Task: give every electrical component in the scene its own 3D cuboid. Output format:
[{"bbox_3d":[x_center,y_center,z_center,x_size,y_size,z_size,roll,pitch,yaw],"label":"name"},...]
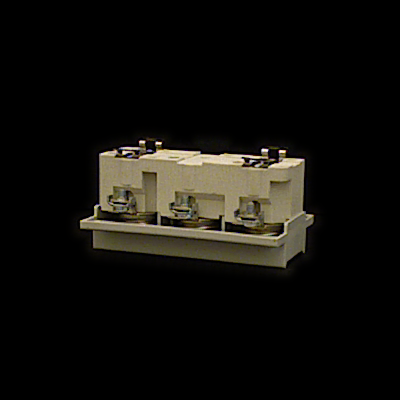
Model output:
[{"bbox_3d":[0.000,0.000,0.648,0.121,0.063,0.078,5,12,19],"label":"electrical component"}]
